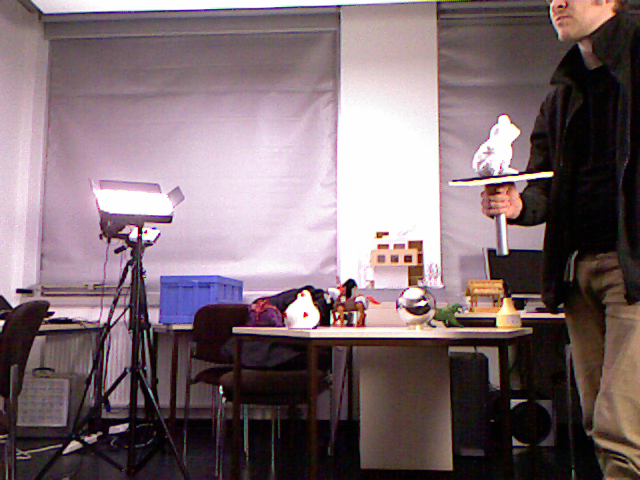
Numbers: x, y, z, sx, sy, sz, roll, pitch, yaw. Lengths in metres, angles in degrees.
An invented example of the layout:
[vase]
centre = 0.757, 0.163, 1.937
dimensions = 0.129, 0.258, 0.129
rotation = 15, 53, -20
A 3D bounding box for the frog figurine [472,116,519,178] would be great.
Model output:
[frog figurine]
centre = 0.463, -0.247, 1.363
dimensions = 0.122, 0.159, 0.139
rotation = -3, 8, 22
